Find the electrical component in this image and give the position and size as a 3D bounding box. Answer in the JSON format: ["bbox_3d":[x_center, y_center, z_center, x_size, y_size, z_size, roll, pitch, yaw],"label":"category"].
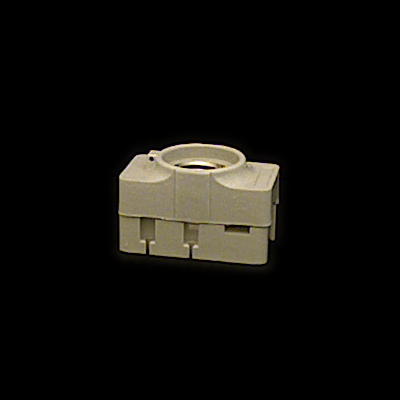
[{"bbox_3d":[0.000,0.000,0.647,0.089,0.056,0.050,5,22,8],"label":"electrical component"}]
